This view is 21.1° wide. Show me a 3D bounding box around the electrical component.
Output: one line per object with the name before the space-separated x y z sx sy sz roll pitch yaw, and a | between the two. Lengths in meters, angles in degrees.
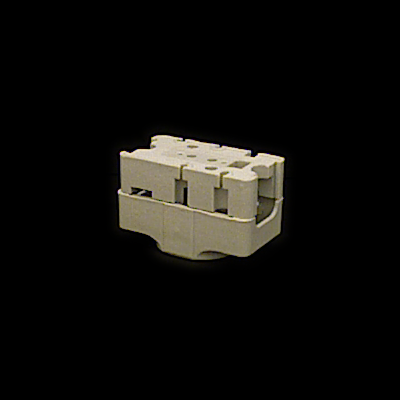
electrical component | 0.000 0.000 0.647 0.088 0.056 0.050 13 24 26
